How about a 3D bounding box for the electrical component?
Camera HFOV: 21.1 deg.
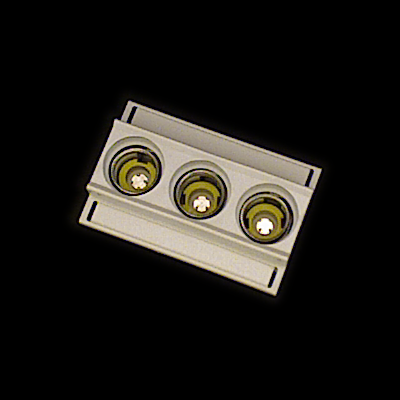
[{"bbox_3d":[0.000,0.000,0.637,0.121,0.079,0.063,20,-13,6],"label":"electrical component"}]
